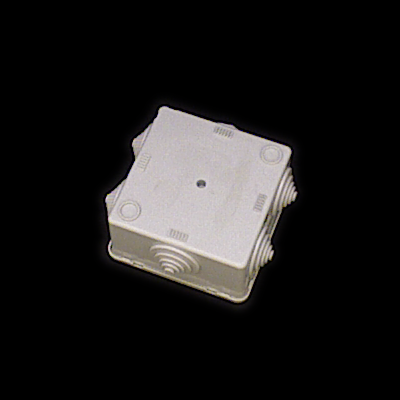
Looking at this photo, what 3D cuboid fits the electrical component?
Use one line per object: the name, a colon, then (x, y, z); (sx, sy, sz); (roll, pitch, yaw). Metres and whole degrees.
electrical component: (0.000, 0.000, 0.632); (0.099, 0.100, 0.048); (19, -25, 9)
